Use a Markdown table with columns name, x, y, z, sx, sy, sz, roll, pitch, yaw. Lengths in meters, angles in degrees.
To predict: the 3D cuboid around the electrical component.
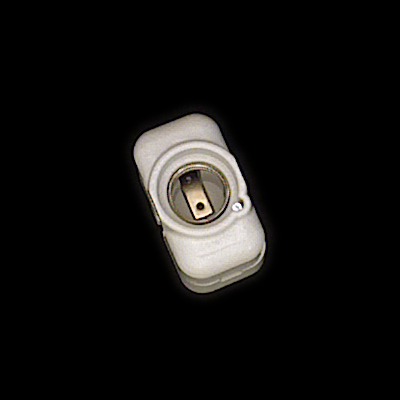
| name | x | y | z | sx | sy | sz | roll | pitch | yaw |
| --- | --- | --- | --- | --- | --- | --- | --- | --- | --- |
| electrical component | 0.000 | 0.000 | 0.634 | 0.054 | 0.095 | 0.059 | -22 | -14 | -6 |
